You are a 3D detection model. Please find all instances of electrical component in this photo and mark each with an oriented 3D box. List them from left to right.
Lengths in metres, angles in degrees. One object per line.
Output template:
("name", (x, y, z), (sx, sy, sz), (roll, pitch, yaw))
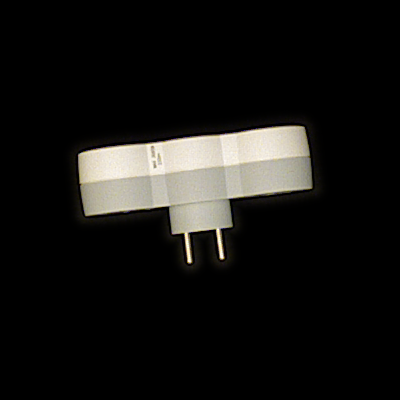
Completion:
("electrical component", (0.000, 0.000, 0.639), (0.138, 0.074, 0.052), (-7, -4, -1))
